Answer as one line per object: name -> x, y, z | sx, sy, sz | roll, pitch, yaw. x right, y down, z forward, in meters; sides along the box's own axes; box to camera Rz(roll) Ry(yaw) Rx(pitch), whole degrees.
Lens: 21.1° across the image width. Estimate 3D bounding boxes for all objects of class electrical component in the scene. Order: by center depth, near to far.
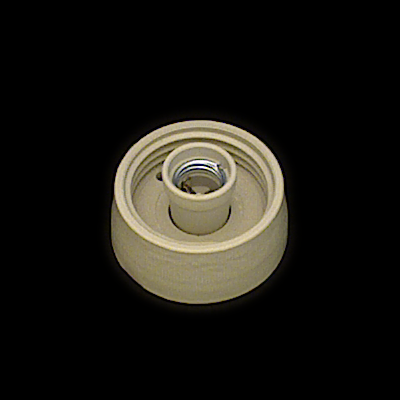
electrical component -> 0.000, 0.000, 0.634 | 0.108, 0.107, 0.060 | 0, -37, -1
